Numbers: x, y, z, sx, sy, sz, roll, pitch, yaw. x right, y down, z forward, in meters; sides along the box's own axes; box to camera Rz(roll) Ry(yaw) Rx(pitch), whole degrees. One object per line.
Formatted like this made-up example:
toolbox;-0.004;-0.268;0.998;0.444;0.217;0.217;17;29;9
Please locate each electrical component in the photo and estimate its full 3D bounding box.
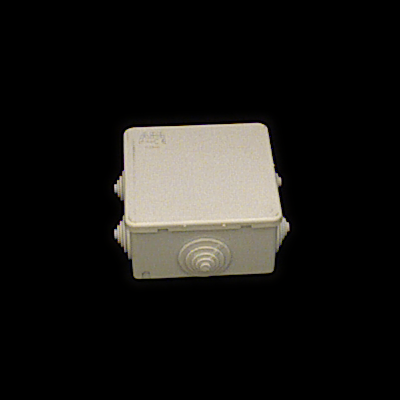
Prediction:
electrical component;0.000;0.000;0.642;0.100;0.049;0.099;-2;43;-3
